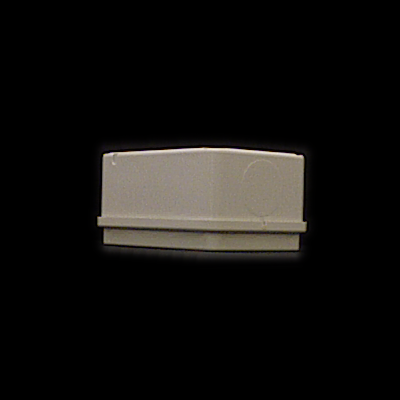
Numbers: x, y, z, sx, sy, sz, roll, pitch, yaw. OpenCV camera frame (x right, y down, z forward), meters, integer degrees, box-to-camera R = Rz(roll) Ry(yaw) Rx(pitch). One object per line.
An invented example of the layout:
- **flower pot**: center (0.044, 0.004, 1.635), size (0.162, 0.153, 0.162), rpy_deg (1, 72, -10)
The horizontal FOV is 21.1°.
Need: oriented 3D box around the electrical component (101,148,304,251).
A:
- **electrical component**: center (0.000, 0.000, 0.649), size (0.078, 0.057, 0.113), rpy_deg (1, 1, -40)
